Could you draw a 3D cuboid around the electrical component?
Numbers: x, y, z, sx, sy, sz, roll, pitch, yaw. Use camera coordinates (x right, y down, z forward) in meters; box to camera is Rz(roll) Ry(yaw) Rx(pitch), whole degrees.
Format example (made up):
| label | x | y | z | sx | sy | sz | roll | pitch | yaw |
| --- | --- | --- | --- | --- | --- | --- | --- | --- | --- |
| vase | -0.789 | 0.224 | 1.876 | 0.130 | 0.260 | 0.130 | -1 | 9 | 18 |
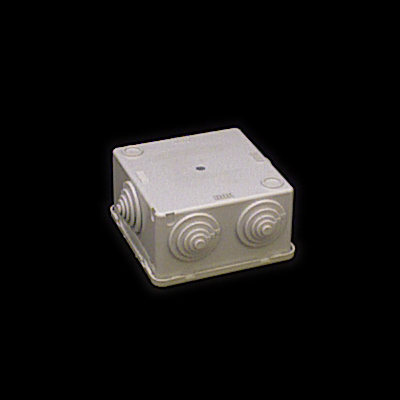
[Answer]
| label | x | y | z | sx | sy | sz | roll | pitch | yaw |
| --- | --- | --- | --- | --- | --- | --- | --- | --- | --- |
| electrical component | 0.000 | 0.000 | 0.636 | 0.100 | 0.049 | 0.098 | -11 | 33 | -19 |
